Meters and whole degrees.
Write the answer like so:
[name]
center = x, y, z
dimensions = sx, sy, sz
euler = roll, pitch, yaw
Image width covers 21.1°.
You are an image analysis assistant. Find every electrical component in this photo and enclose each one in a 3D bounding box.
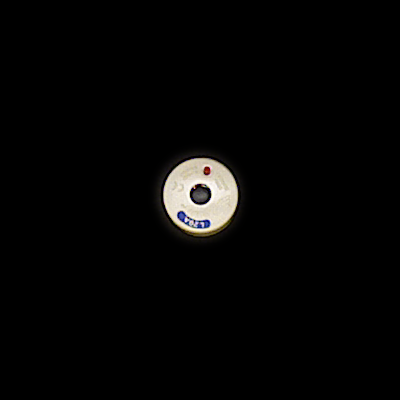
[electrical component]
center = 0.000, 0.000, 0.618
dimensions = 0.040, 0.040, 0.078
euler = 0, -7, 1
